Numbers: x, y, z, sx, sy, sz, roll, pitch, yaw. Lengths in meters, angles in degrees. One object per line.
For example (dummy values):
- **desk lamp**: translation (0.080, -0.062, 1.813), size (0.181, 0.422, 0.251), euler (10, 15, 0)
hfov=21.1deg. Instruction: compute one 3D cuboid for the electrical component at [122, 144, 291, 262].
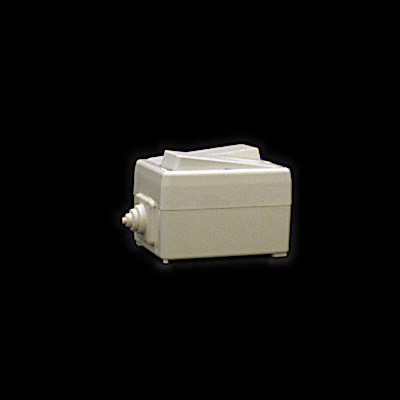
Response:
- **electrical component**: translation (0.000, 0.000, 0.643), size (0.096, 0.061, 0.061), euler (-2, 11, -20)
